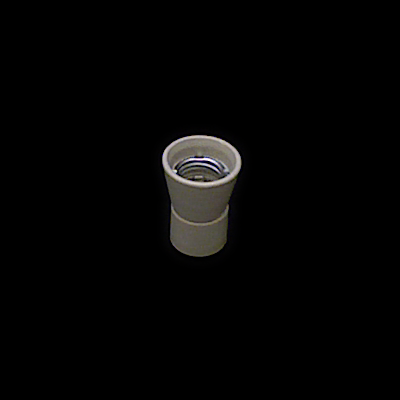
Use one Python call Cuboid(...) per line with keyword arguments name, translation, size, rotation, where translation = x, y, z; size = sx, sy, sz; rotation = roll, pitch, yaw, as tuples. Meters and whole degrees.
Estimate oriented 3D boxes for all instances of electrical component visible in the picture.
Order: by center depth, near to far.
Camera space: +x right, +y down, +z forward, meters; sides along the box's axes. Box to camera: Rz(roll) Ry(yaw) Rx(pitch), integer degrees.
Cuboid(name="electrical component", translation=(0.000, 0.000, 0.630), size=(0.044, 0.066, 0.044), rotation=(1, 42, -1))
